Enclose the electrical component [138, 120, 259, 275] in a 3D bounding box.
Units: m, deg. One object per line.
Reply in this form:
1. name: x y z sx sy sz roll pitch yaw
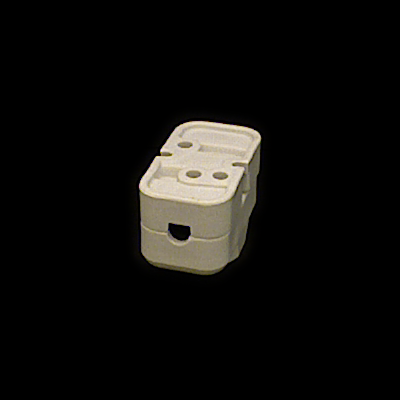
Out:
1. electrical component: 0.000 0.000 0.642 0.053 0.060 0.094 9 33 13
